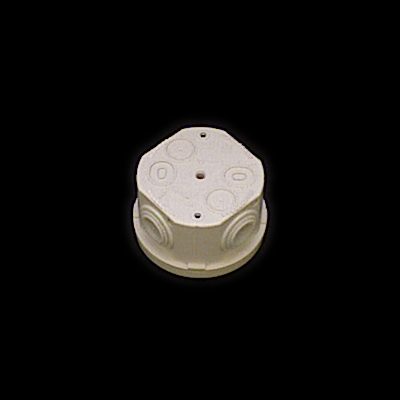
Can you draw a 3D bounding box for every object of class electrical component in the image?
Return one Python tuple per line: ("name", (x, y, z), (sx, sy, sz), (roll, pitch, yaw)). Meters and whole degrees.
("electrical component", (0.000, 0.000, 0.632), (0.080, 0.080, 0.051), (0, -37, -1))
